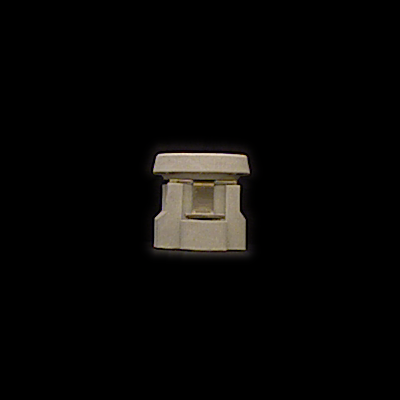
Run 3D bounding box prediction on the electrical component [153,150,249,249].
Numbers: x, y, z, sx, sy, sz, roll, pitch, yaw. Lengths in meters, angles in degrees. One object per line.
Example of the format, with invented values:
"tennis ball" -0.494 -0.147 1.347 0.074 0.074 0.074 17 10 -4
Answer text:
"electrical component" 0.000 0.000 0.648 0.058 0.057 0.078 1 0 -5
